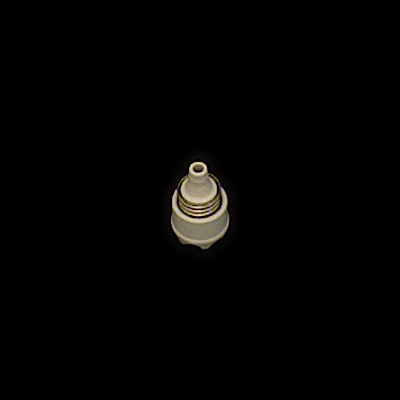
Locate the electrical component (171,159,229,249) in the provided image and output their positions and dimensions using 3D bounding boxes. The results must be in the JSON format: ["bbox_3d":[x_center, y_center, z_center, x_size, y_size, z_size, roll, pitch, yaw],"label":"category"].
[{"bbox_3d":[0.000,0.000,0.638,0.035,0.035,0.062,0,-38,1],"label":"electrical component"}]
